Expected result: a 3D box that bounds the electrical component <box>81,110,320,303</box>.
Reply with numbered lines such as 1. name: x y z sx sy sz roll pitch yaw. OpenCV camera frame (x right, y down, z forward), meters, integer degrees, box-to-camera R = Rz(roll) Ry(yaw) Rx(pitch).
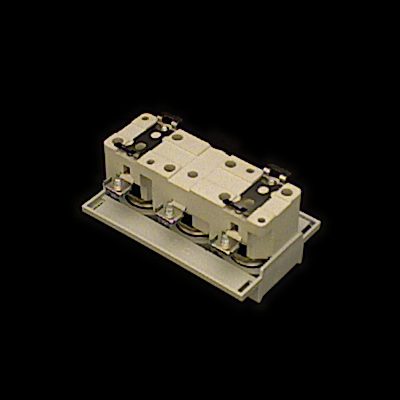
1. electrical component: 0.000 0.000 0.640 0.120 0.063 0.078 28 48 26
